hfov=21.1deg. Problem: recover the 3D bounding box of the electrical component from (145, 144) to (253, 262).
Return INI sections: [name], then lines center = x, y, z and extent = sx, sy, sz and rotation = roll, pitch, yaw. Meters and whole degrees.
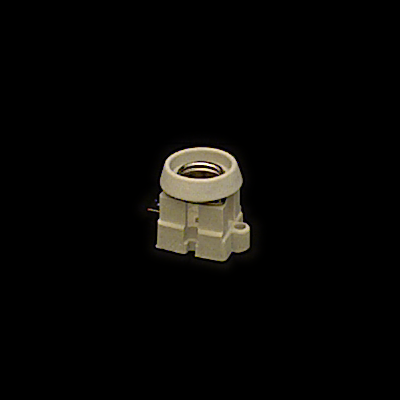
[electrical component]
center = 0.000, 0.000, 0.642
extent = 0.066, 0.056, 0.048
rotation = 11, 32, 15
